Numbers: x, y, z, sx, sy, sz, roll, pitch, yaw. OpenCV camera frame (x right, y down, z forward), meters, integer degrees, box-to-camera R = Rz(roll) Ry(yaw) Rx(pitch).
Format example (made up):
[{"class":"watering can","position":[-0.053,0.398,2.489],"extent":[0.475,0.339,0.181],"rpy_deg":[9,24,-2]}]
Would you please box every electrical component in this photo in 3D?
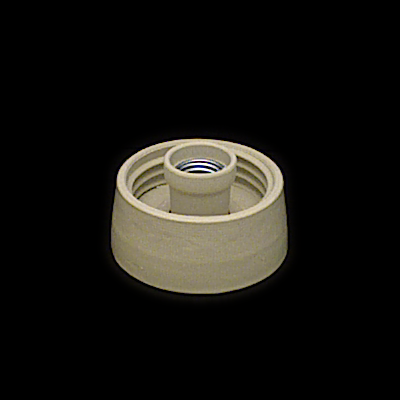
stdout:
[{"class":"electrical component","position":[0.000,0.000,0.642],"extent":[0.108,0.061,0.106],"rpy_deg":[1,32,0]}]
